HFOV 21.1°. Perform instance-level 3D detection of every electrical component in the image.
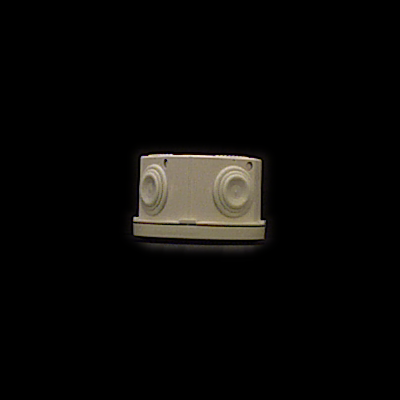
[{"bbox_3d":[0.000,0.000,0.650,0.080,0.051,0.080,2,0,0],"label":"electrical component"}]
